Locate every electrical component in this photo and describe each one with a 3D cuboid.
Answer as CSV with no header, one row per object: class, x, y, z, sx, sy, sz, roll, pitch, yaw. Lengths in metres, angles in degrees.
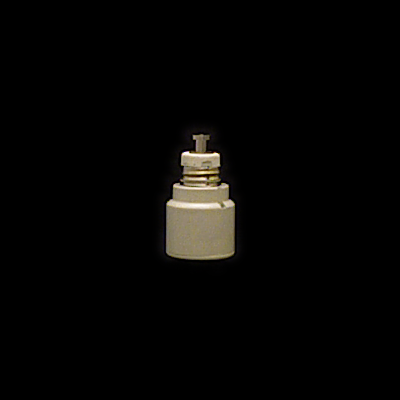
electrical component,0.000,0.000,0.641,0.040,0.079,0.040,0,11,0
